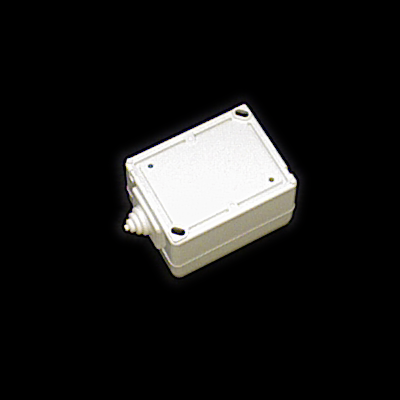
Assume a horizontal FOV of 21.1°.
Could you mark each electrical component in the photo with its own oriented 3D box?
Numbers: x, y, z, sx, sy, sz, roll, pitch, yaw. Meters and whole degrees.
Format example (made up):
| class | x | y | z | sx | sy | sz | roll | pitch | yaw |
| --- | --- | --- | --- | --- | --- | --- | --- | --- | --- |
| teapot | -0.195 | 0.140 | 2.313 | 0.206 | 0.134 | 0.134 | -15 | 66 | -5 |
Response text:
| class | x | y | z | sx | sy | sz | roll | pitch | yaw |
| --- | --- | --- | --- | --- | --- | --- | --- | --- | --- |
| electrical component | 0.000 | -0.001 | 0.623 | 0.097 | 0.062 | 0.060 | -26 | -24 | -13 |
